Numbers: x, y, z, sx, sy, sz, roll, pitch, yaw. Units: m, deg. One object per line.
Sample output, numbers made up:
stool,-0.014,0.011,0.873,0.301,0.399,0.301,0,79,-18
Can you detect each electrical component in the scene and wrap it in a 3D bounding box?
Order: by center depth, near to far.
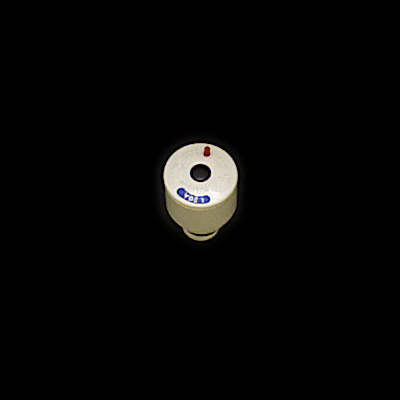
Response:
electrical component,0.000,0.000,0.619,0.040,0.040,0.078,0,-28,0
